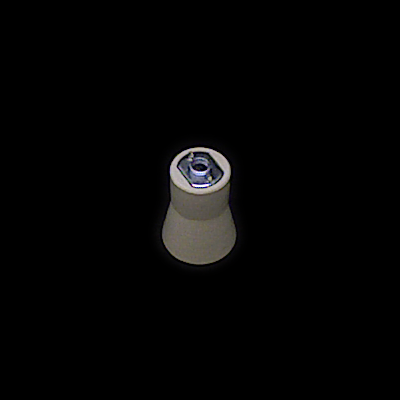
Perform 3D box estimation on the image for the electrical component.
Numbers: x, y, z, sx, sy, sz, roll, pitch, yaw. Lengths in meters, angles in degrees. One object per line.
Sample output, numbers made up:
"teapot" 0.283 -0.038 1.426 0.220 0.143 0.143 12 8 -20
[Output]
"electrical component" 0.000 0.000 0.627 0.044 0.044 0.065 0 -39 -2
